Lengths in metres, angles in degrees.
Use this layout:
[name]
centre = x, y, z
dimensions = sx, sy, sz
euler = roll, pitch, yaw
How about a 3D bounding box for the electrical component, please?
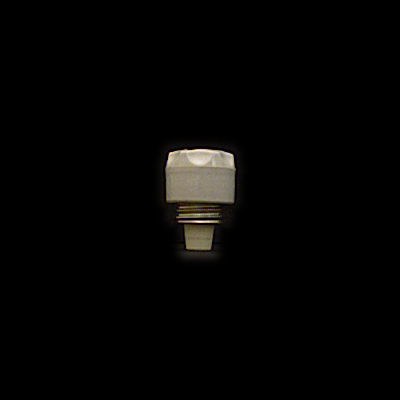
[electrical component]
centre = 0.000, 0.000, 0.658
dimensions = 0.043, 0.062, 0.043
euler = 1, 1, 0
